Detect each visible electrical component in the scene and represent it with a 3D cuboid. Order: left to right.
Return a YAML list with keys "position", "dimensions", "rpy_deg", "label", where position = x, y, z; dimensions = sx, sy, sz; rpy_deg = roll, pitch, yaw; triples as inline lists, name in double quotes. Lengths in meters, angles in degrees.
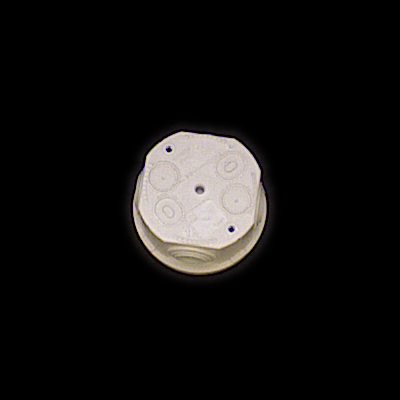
- position: [0.000, 0.000, 0.632]
  dimensions: [0.080, 0.080, 0.050]
  rpy_deg: [0, -17, -1]
  label: "electrical component"
